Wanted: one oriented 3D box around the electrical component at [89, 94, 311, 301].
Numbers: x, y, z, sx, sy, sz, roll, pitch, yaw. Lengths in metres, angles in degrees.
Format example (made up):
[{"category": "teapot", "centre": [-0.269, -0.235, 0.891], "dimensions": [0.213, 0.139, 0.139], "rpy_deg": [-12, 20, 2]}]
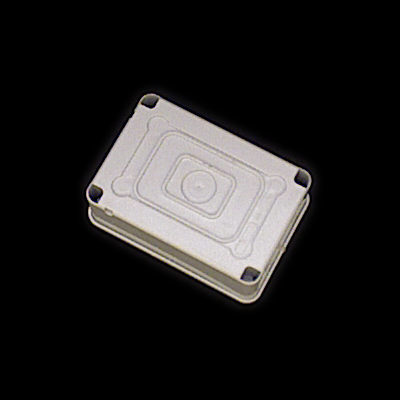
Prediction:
[{"category": "electrical component", "centre": [0.000, 0.000, 0.628], "dimensions": [0.113, 0.078, 0.057], "rpy_deg": [28, -15, 7]}]
